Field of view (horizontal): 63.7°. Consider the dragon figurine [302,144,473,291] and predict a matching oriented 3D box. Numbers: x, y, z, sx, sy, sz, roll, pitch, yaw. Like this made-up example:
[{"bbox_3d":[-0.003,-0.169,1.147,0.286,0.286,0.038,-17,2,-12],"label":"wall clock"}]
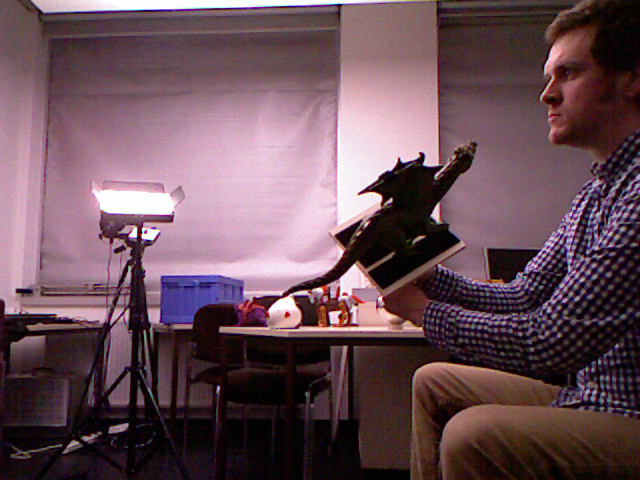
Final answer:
[{"bbox_3d":[0.134,-0.058,0.965,0.415,0.124,0.238,-31,-34,-16],"label":"dragon figurine"}]
